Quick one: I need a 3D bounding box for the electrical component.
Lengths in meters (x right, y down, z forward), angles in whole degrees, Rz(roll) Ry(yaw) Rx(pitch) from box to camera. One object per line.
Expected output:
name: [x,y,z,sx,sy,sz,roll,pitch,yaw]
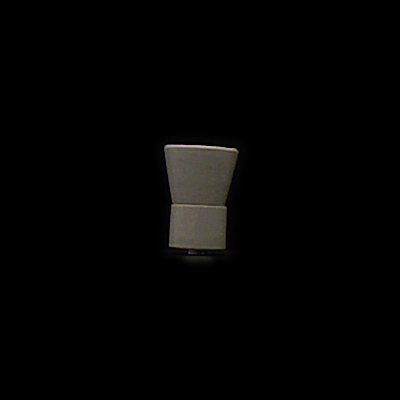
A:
electrical component: [0.000,0.000,0.651,0.044,0.065,0.044,2,1,0]
